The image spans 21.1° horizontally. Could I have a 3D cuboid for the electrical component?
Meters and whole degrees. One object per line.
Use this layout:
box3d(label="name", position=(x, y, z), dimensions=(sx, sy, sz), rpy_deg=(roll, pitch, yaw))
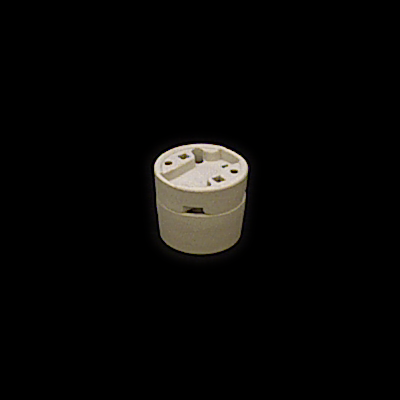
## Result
box3d(label="electrical component", position=(0.000, 0.000, 0.637), dimensions=(0.055, 0.047, 0.055), rpy_deg=(1, 31, 0))
